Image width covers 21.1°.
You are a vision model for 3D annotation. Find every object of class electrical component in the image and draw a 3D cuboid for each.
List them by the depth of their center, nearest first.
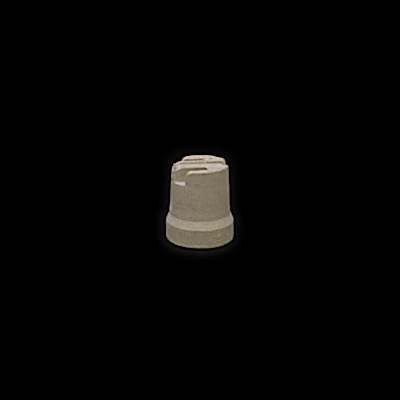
[{"bbox_3d":[0.000,0.000,0.642,0.040,0.046,0.040,1,21,0],"label":"electrical component"}]
